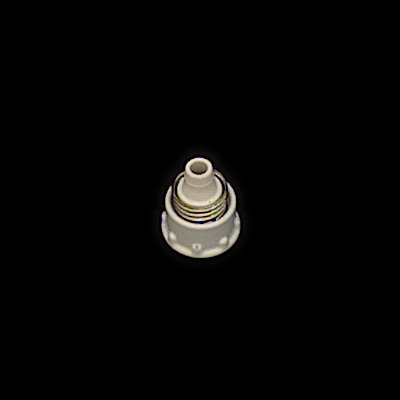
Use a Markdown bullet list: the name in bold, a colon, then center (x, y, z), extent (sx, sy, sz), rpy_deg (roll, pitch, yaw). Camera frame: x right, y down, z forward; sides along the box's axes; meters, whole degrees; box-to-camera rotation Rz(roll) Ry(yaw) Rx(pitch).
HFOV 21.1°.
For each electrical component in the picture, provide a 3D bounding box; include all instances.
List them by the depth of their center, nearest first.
- **electrical component**: center (0.000, 0.000, 0.635), extent (0.048, 0.048, 0.062), rpy_deg (0, -38, 1)
